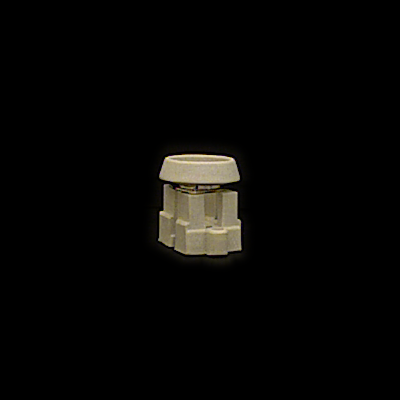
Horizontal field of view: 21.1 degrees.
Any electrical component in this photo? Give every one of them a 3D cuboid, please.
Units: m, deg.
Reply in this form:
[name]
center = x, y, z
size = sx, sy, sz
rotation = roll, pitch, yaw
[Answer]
[electrical component]
center = 0.000, 0.000, 0.652
size = 0.049, 0.056, 0.065
rotation = -3, 12, -27
